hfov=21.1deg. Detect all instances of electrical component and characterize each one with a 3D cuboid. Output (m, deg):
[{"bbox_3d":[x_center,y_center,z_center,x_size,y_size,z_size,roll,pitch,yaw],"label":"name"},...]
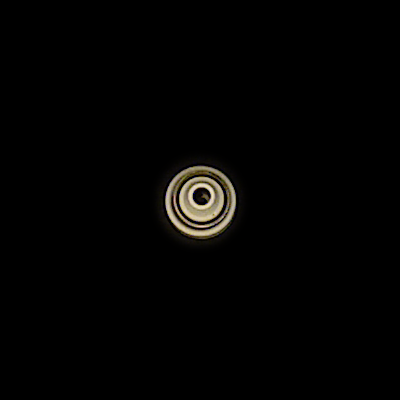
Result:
[{"bbox_3d":[0.000,0.000,0.635,0.043,0.043,0.062,0,-5,0],"label":"electrical component"}]
